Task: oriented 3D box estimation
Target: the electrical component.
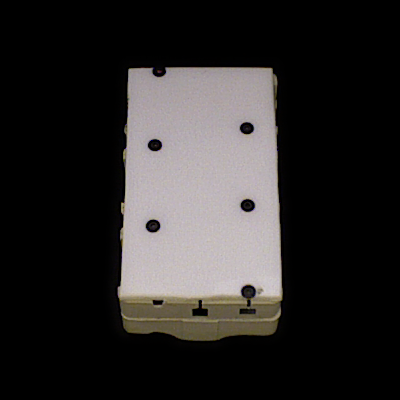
[{"bbox_3d":[0.000,0.000,0.632,0.089,0.149,0.062,1,-27,0],"label":"electrical component"}]
